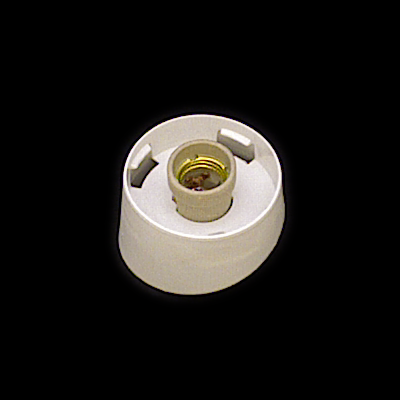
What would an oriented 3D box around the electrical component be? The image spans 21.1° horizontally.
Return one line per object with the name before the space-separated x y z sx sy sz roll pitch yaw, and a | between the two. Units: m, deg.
electrical component | 0.000 0.000 0.627 0.099 0.098 0.064 0 -37 0
